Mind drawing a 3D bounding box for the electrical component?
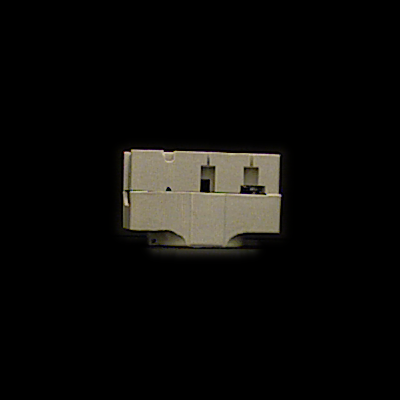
[{"bbox_3d":[0.000,0.000,0.655,0.090,0.056,0.050,1,2,-11],"label":"electrical component"}]
